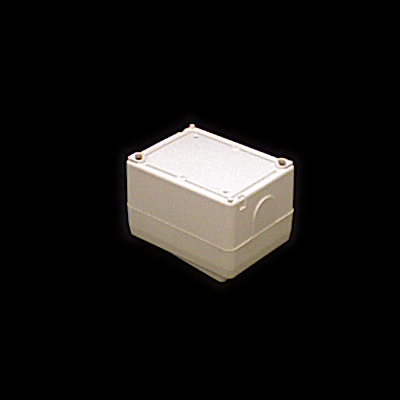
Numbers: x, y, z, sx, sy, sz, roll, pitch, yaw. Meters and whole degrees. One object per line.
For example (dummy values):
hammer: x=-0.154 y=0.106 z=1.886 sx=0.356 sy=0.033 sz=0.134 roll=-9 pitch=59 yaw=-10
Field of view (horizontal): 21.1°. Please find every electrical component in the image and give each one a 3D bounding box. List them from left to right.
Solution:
electrical component: x=0.000 y=0.000 z=0.637 sx=0.095 sy=0.061 sz=0.061 roll=23 pitch=38 yaw=33
